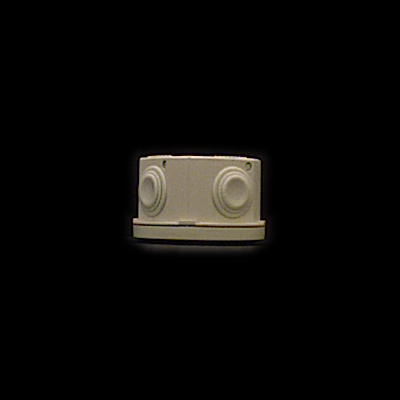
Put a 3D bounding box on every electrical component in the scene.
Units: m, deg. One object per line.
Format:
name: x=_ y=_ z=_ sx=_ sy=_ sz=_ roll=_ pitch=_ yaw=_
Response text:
electrical component: x=0.000 y=0.000 z=0.650 sx=0.080 sy=0.051 sz=0.080 roll=1 pitch=0 yaw=0
